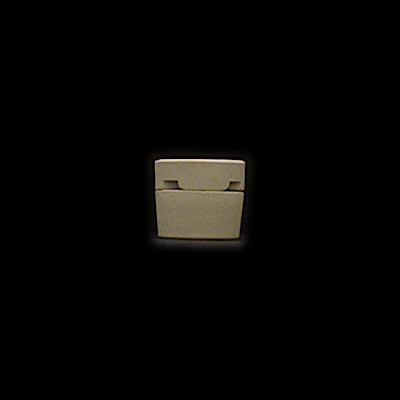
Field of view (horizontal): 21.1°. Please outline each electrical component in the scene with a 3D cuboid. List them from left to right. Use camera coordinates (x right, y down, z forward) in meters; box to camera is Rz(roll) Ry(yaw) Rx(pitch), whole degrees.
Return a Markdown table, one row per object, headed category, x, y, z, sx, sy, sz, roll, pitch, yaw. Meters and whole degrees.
| category | x | y | z | sx | sy | sz | roll | pitch | yaw |
| --- | --- | --- | --- | --- | --- | --- | --- | --- | --- |
| electrical component | 0.000 | 0.000 | 0.649 | 0.055 | 0.047 | 0.055 | 1 | 0 | 0 |
